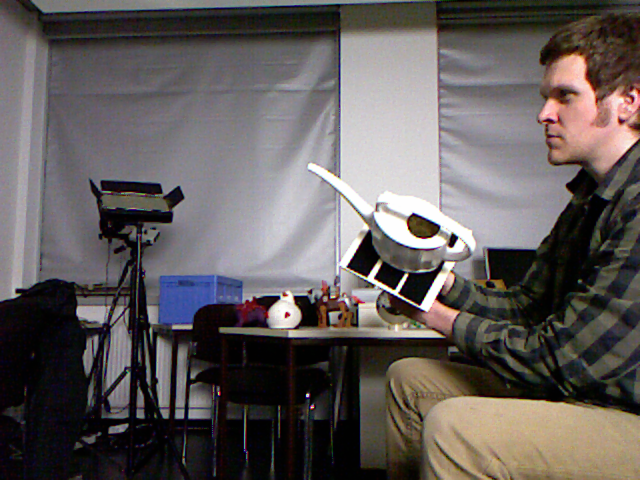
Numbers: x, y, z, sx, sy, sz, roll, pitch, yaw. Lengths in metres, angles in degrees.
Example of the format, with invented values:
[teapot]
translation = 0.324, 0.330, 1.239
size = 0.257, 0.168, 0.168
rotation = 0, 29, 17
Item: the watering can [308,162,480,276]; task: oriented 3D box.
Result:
[watering can]
translation = 0.135, -0.036, 1.005
size = 0.350, 0.106, 0.221
rotation = 26, -22, 11
